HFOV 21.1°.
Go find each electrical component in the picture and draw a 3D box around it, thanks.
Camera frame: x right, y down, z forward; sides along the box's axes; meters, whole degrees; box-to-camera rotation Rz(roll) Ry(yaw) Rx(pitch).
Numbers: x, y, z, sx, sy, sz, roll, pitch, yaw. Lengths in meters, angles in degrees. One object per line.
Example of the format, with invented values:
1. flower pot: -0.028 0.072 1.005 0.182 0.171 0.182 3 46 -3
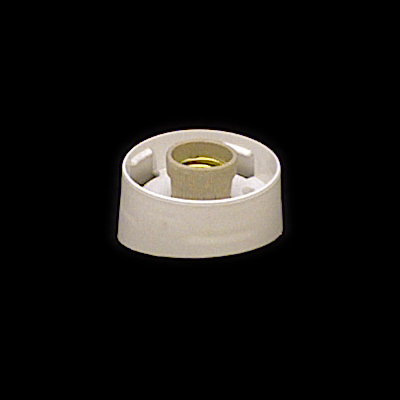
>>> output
1. electrical component: 0.000 0.000 0.633 0.099 0.065 0.097 1 31 0
